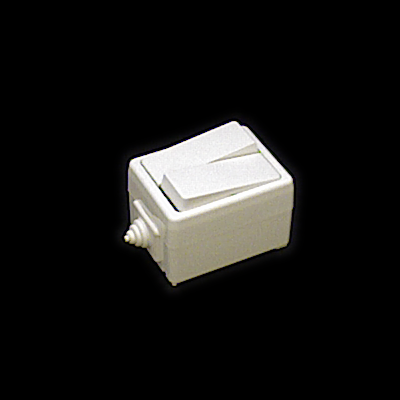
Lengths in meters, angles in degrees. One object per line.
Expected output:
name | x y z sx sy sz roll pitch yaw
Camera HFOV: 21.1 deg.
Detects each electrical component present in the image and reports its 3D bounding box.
electrical component | 0.000 0.000 0.630 0.096 0.061 0.061 -18 45 -20
